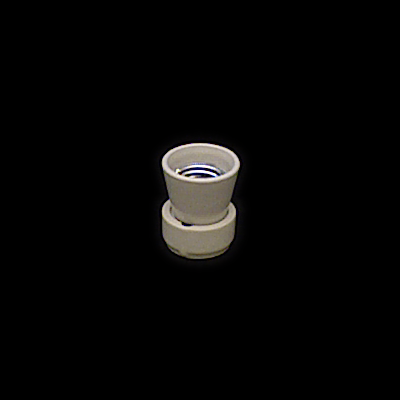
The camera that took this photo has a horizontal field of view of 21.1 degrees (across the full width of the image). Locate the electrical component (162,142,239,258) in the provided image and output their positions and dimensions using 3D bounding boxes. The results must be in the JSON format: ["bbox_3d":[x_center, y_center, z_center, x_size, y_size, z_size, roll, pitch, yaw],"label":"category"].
[{"bbox_3d":[0.000,0.000,0.636,0.045,0.056,0.044,1,32,-1],"label":"electrical component"}]
